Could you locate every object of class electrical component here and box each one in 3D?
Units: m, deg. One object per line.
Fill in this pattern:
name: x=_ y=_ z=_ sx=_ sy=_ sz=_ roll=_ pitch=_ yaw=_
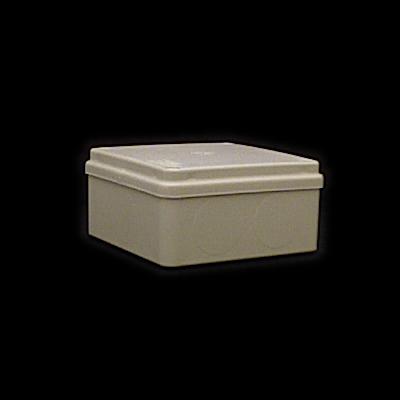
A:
electrical component: x=0.000 y=0.000 z=0.646 sx=0.109 sy=0.056 sz=0.108 roll=-4 pitch=11 yaw=-30
